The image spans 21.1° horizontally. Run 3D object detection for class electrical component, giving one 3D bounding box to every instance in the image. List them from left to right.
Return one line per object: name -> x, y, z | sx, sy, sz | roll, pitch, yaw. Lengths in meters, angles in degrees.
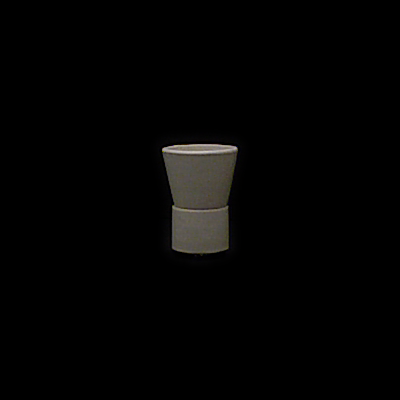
electrical component -> 0.000, 0.000, 0.644 | 0.044, 0.066, 0.044 | 0, 11, 0
